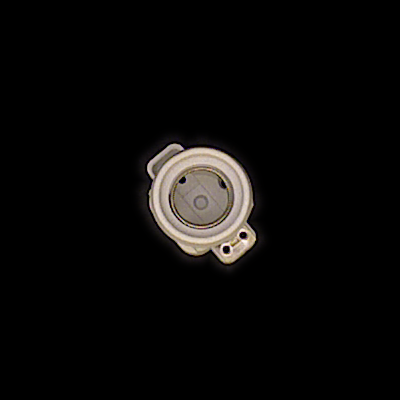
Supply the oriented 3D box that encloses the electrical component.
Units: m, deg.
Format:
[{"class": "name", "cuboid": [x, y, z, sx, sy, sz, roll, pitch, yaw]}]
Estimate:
[{"class": "electrical component", "cuboid": [0.000, 0.000, 0.630, 0.058, 0.078, 0.056, -40, -5, -4]}]
